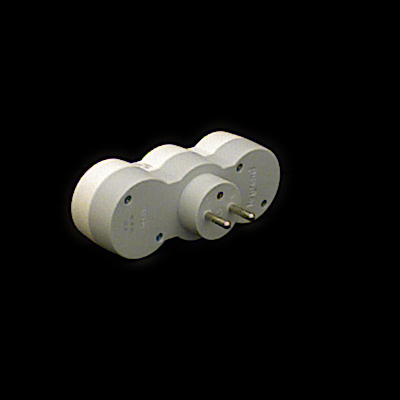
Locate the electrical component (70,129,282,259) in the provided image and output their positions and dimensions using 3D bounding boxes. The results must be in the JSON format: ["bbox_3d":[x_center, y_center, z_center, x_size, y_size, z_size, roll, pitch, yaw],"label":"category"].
[{"bbox_3d":[0.000,0.000,0.644,0.139,0.053,0.072,-17,30,-39],"label":"electrical component"}]
